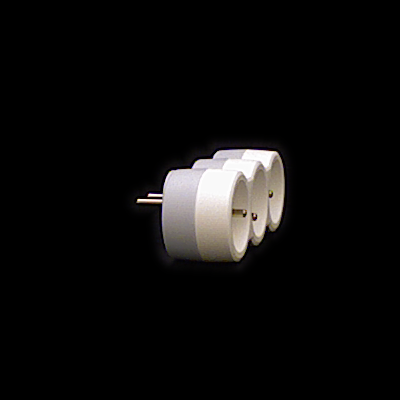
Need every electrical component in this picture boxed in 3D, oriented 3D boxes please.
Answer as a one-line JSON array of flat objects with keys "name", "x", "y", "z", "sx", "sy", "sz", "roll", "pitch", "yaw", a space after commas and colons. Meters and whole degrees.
[{"name": "electrical component", "x": 0.000, "y": 0.000, "z": 0.642, "sx": 0.073, "sy": 0.052, "sz": 0.137, "roll": 2, "pitch": 11, "yaw": 16}]
